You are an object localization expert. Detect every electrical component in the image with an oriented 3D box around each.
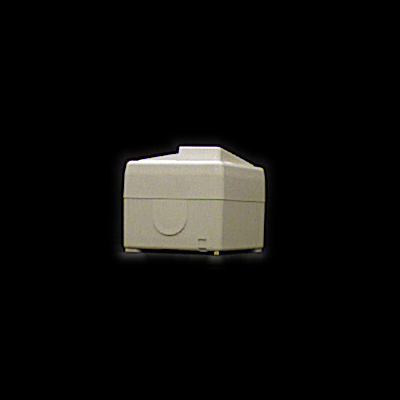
[{"bbox_3d":[0.000,0.000,0.653,0.061,0.061,0.096,1,0,22],"label":"electrical component"}]
